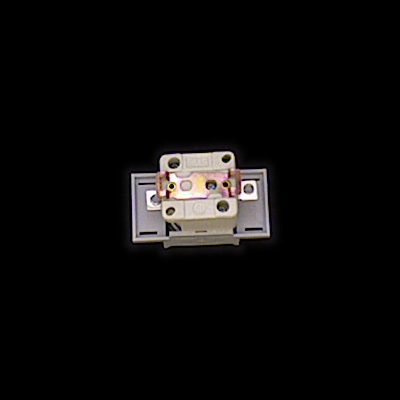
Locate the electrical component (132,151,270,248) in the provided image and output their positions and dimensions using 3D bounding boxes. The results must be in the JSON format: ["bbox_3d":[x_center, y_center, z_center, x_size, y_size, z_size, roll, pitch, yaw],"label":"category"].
[{"bbox_3d":[0.000,0.000,0.625,0.081,0.042,0.063,-3,-16,-1],"label":"electrical component"}]
